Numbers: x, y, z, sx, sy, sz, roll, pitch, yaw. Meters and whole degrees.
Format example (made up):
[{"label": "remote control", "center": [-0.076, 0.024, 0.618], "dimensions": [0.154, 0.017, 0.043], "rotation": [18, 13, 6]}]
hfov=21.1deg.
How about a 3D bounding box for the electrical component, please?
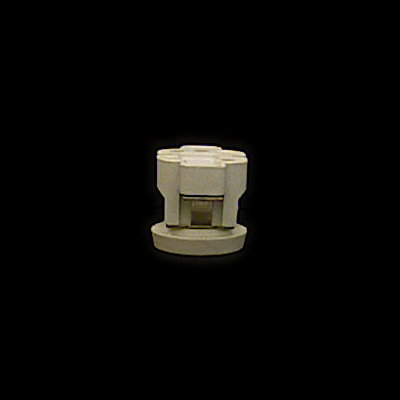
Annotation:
[{"label": "electrical component", "center": [0.000, 0.000, 0.650], "dimensions": [0.058, 0.057, 0.078], "rotation": [1, 13, -3]}]
